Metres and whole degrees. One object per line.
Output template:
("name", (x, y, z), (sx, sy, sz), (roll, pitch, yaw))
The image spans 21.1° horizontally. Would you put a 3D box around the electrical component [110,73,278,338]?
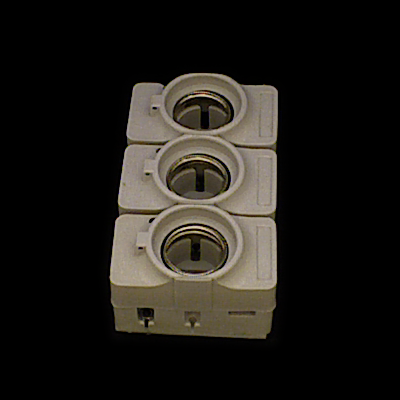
("electrical component", (0.000, 0.000, 0.633), (0.089, 0.148, 0.062), (2, -38, 2))
